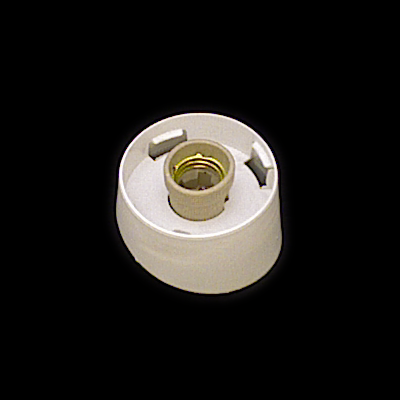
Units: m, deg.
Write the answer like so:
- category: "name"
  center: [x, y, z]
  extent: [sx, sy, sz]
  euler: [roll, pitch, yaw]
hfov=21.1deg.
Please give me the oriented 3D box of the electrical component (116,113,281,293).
- category: "electrical component"
  center: [0.000, 0.000, 0.626]
  extent: [0.099, 0.098, 0.064]
  euler: [0, -37, -1]
